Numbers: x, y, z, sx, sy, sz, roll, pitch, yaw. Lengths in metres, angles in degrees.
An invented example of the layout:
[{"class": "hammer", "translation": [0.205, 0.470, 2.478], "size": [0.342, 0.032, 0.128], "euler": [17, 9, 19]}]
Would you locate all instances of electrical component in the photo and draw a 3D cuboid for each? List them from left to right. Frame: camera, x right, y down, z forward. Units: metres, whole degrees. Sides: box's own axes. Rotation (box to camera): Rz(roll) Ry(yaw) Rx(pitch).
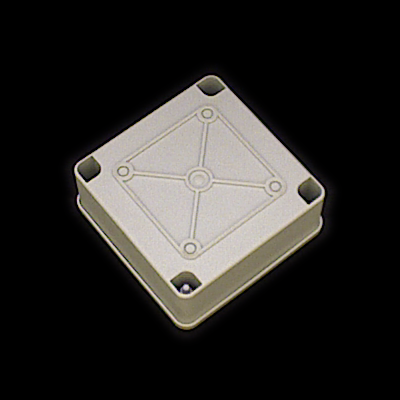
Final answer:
[{"class": "electrical component", "translation": [0.000, 0.000, 0.626], "size": [0.109, 0.109, 0.056], "euler": [-36, -21, -16]}]
